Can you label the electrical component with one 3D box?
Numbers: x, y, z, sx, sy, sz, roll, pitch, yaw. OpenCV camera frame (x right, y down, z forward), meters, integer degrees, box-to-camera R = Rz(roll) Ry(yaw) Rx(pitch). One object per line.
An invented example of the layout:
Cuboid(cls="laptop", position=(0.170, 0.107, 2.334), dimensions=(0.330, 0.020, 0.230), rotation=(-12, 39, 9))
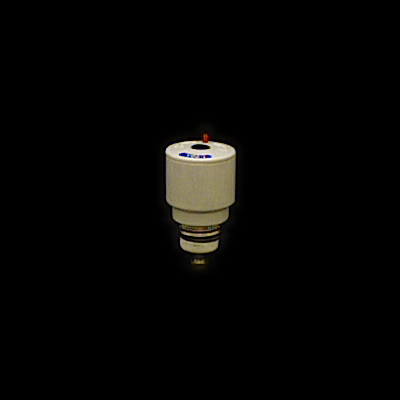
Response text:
Cuboid(cls="electrical component", position=(0.000, 0.000, 0.637), dimensions=(0.040, 0.079, 0.039), rotation=(1, 21, 0))
